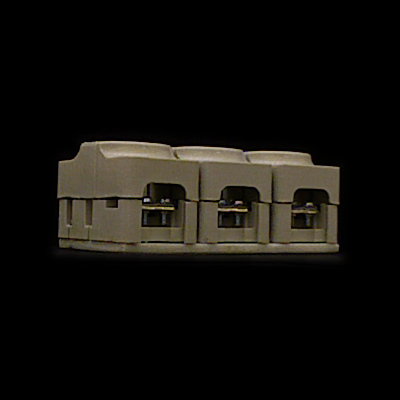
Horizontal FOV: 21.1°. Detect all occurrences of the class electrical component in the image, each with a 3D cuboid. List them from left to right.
[{"bbox_3d":[0.000,0.000,0.657,0.151,0.062,0.089,2,-1,-33],"label":"electrical component"}]
